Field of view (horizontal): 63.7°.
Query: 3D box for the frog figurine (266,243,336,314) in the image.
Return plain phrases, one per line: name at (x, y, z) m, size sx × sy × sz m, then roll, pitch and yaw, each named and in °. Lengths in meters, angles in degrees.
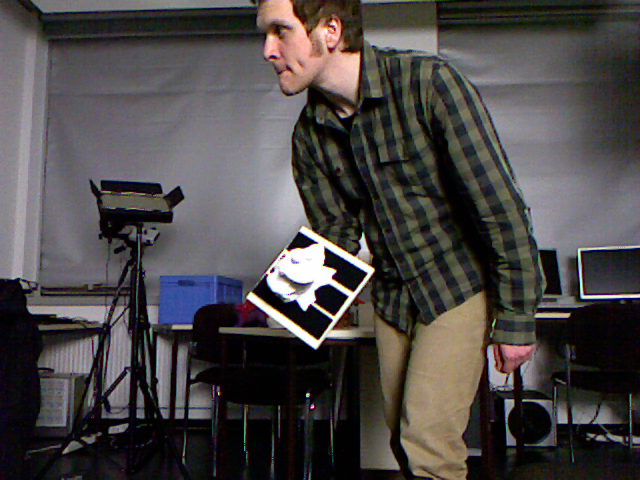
frog figurine at (-0.048, 0.056, 1.016) m, size 0.138 × 0.125 × 0.157 m, roll -34°, pitch -34°, yaw 0°
